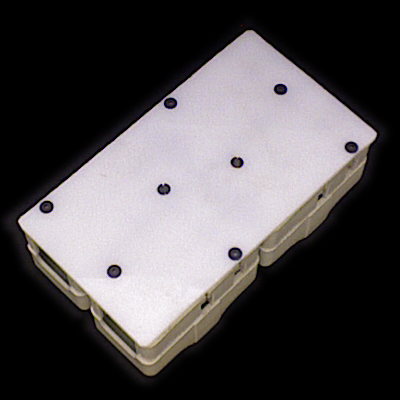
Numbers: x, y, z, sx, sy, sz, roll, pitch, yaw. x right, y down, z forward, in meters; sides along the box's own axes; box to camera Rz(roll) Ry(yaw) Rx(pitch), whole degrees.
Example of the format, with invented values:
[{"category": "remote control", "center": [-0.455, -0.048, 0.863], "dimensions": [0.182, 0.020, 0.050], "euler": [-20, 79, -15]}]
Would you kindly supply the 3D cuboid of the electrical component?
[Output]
[{"category": "electrical component", "center": [0.000, 0.000, 0.625], "dimensions": [0.187, 0.105, 0.060], "euler": [-41, -20, -19]}]
